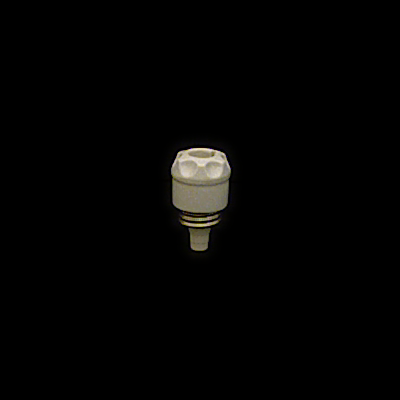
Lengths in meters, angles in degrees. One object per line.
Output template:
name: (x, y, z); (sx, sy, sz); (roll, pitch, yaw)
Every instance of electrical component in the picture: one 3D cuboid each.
electrical component: (0.000, 0.000, 0.646); (0.035, 0.062, 0.034); (1, 22, 0)
